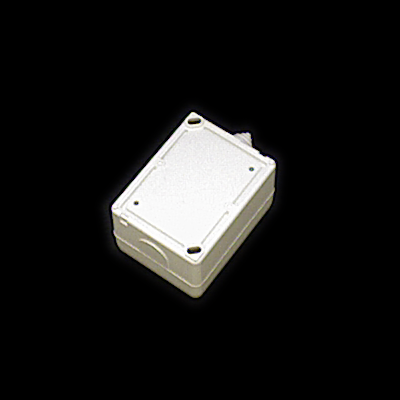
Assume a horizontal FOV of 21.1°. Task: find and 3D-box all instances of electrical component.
[{"bbox_3d":[0.000,0.000,0.630,0.061,0.096,0.061,32,-23,16],"label":"electrical component"}]
